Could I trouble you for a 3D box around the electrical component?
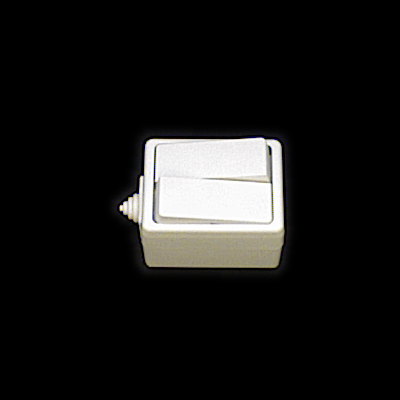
[{"bbox_3d":[0.000,0.000,0.627,0.096,0.062,0.061,1,-28,0],"label":"electrical component"}]
